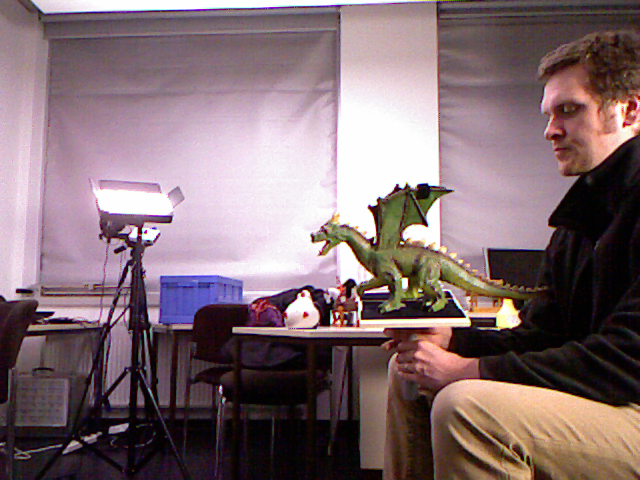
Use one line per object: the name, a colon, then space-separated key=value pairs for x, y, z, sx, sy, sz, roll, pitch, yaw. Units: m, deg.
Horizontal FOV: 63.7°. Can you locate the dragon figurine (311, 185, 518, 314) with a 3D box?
dragon figurine: x=0.188 y=0.012 z=1.025 sx=0.411 sy=0.240 sz=0.124 roll=-3 pitch=16 yaw=0
